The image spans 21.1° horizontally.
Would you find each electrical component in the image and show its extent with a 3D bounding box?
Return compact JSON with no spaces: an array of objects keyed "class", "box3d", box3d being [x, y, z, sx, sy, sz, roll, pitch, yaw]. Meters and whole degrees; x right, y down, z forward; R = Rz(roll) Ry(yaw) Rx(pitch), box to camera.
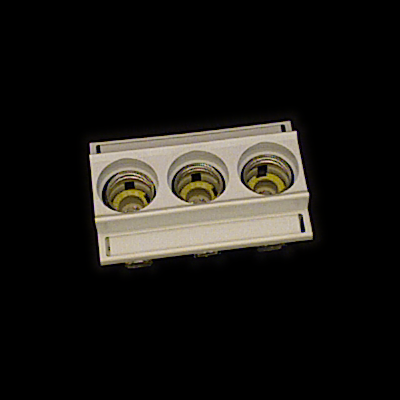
[{"class":"electrical component","box3d":[0.000,0.000,0.638,0.121,0.078,0.063,-7,-28,-3]}]
